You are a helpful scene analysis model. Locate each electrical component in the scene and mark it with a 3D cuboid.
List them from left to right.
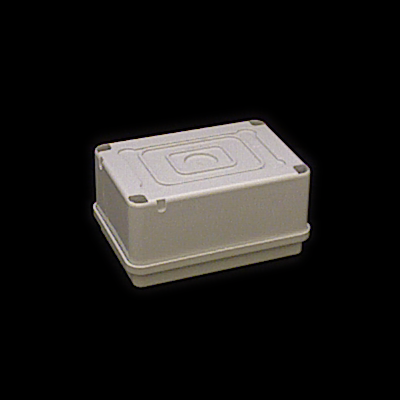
[{"bbox_3d":[0.000,0.000,0.635,0.113,0.058,0.077,-10,33,-19],"label":"electrical component"}]
